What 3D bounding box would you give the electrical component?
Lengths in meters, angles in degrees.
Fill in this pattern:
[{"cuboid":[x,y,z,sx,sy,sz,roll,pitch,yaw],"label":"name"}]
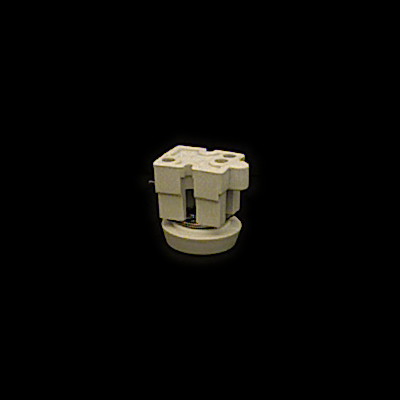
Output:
[{"cuboid":[0.000,0.000,0.648,0.066,0.056,0.048,10,25,22],"label":"electrical component"}]
